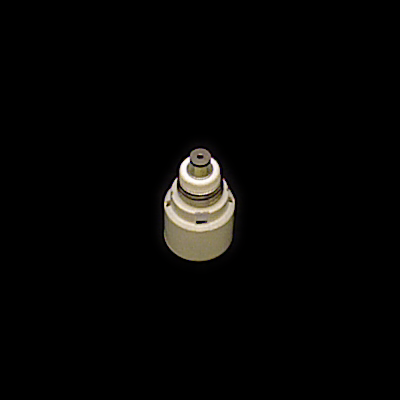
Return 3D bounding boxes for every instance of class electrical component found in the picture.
[{"bbox_3d":[0.000,0.000,0.621,0.040,0.040,0.079,0,-38,-2],"label":"electrical component"}]
